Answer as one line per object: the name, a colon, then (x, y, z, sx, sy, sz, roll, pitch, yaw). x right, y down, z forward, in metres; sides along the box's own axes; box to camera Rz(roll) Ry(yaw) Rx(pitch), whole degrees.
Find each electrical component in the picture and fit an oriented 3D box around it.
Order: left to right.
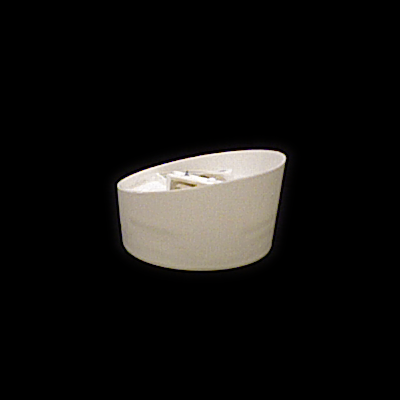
electrical component: (0.000, 0.000, 0.638, 0.099, 0.065, 0.097, 2, 21, -1)
